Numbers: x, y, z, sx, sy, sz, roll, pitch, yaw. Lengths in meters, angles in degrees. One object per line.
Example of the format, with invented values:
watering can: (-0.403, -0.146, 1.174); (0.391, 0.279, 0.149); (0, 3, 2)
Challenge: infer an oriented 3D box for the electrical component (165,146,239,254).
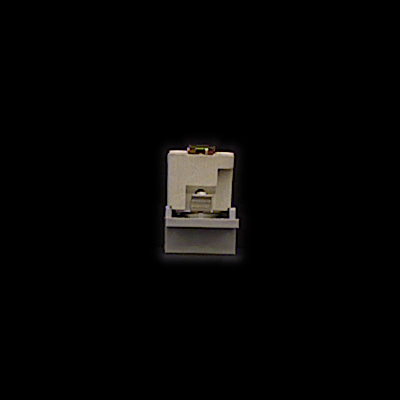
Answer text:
electrical component: (0.000, 0.000, 0.649); (0.042, 0.064, 0.081); (1, 0, -3)
